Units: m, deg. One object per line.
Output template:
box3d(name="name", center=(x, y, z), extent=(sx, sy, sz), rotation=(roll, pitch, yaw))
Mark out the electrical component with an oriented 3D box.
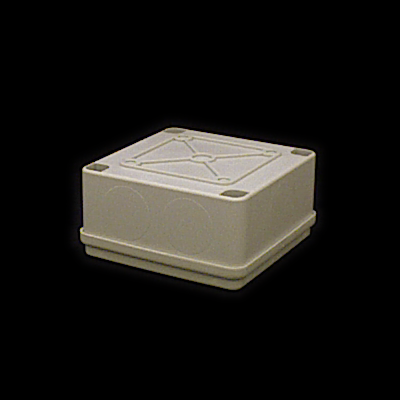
box3d(name="electrical component", center=(0.000, 0.000, 0.641), extent=(0.108, 0.057, 0.108), rotation=(12, 23, 27))
